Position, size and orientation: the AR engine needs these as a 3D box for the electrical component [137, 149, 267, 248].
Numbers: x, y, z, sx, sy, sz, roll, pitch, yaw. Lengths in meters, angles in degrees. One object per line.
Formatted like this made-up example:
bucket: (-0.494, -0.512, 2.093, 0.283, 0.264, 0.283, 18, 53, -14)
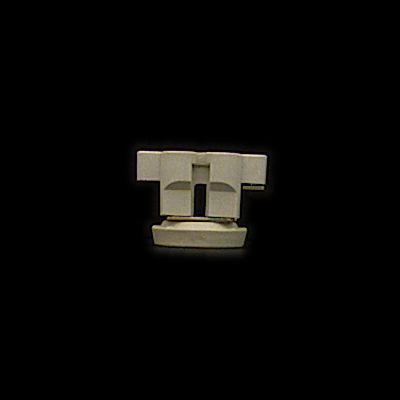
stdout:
electrical component: (0.000, 0.000, 0.658, 0.078, 0.057, 0.058, 3, 1, 0)
